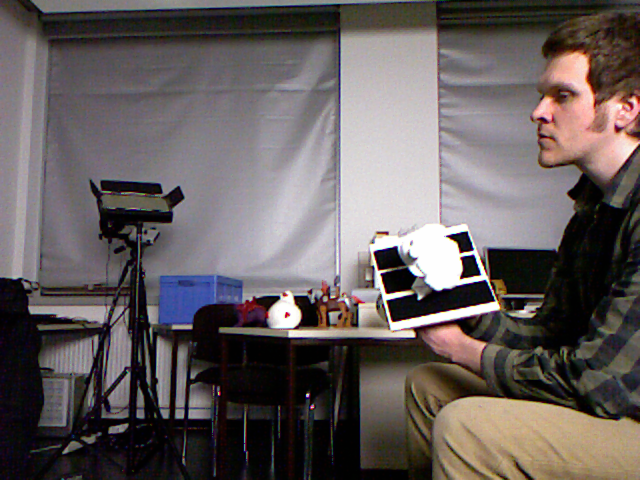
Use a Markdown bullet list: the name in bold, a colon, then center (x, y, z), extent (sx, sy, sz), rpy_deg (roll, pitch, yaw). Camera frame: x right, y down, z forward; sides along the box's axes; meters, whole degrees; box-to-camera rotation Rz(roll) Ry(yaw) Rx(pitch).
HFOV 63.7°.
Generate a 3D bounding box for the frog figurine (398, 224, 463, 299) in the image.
- **frog figurine**: center (0.209, 0.026, 0.963), extent (0.123, 0.141, 0.156), rpy_deg (11, -30, 14)
